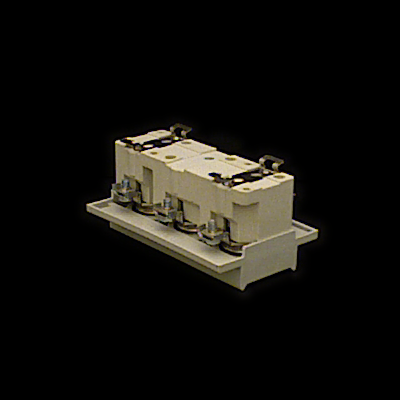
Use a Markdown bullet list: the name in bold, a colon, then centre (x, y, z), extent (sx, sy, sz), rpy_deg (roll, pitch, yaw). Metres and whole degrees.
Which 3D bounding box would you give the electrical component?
- **electrical component**: centre (0.000, 0.000, 0.643), extent (0.079, 0.064, 0.119), rpy_deg (-19, 29, -39)
